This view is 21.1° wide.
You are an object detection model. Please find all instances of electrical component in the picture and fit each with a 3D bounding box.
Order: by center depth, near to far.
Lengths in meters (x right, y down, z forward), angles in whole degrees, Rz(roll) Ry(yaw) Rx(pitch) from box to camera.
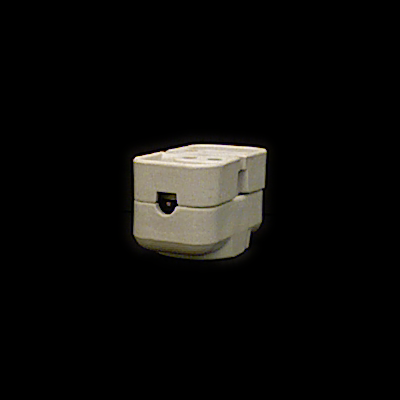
[{"bbox_3d":[0.000,0.000,0.652,0.053,0.060,0.095,7,12,25],"label":"electrical component"}]
